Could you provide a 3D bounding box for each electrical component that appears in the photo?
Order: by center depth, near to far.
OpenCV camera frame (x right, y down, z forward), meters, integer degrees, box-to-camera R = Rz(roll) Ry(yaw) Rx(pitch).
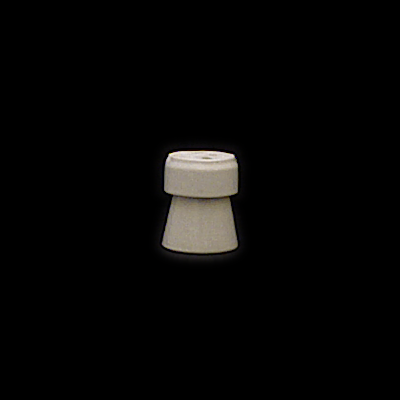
[{"bbox_3d":[0.000,0.000,0.643,0.045,0.055,0.044,1,12,0],"label":"electrical component"}]
